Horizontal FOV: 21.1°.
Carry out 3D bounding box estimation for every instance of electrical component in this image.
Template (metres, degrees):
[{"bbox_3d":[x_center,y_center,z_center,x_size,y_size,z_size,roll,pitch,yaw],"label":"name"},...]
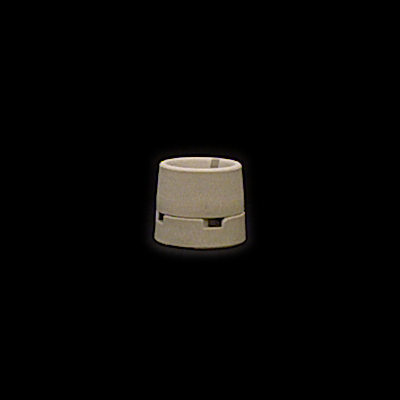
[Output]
[{"bbox_3d":[0.000,0.000,0.644,0.055,0.047,0.055,0,11,0],"label":"electrical component"}]
